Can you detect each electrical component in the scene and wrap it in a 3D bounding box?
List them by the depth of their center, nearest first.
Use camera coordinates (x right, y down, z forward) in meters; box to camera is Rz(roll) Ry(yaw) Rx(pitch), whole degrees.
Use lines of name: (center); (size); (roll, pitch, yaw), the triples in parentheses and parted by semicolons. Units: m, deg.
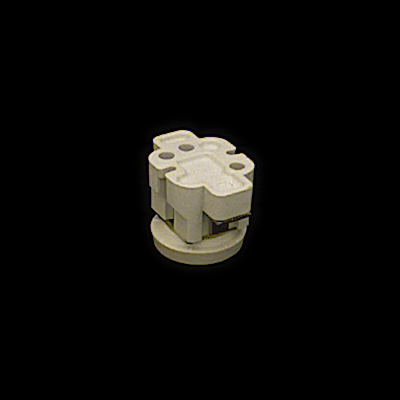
electrical component: (0.000, 0.000, 0.642); (0.058, 0.057, 0.077); (-17, 38, -28)
